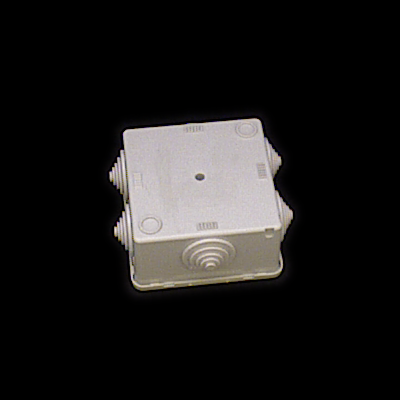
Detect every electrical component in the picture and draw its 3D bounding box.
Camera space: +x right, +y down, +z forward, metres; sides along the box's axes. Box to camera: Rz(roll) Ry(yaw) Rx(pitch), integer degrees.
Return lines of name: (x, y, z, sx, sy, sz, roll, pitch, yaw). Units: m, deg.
electrical component: (0.000, 0.000, 0.632, 0.100, 0.099, 0.049, -5, -37, -5)
